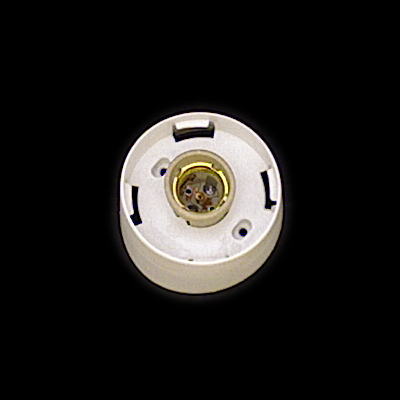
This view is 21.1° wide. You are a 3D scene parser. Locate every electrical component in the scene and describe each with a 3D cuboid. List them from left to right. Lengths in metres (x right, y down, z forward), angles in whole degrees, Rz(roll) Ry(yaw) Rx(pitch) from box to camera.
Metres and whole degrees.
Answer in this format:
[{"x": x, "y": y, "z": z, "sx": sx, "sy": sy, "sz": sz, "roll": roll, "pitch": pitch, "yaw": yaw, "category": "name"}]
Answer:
[{"x": 0.000, "y": 0.000, "z": 0.625, "sx": 0.099, "sy": 0.099, "sz": 0.064, "roll": 0, "pitch": -17, "yaw": 0, "category": "electrical component"}]
